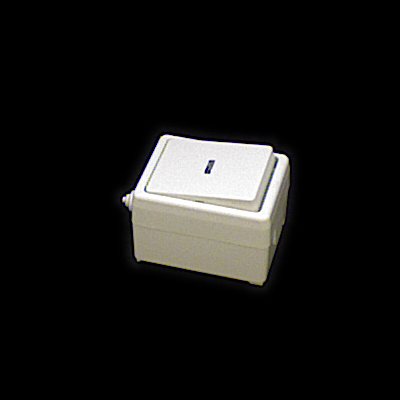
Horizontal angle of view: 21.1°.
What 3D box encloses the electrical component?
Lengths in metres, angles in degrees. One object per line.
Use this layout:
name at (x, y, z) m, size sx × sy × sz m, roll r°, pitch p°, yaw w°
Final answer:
electrical component at (0.000, 0.000, 0.631) m, size 0.096 × 0.061 × 0.061 m, roll 10°, pitch 43°, yaw 11°
